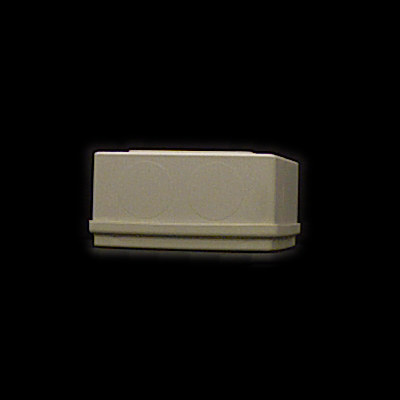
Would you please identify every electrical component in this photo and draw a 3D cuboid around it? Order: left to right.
[{"bbox_3d":[0.000,0.000,0.648,0.108,0.056,0.108,1,1,13],"label":"electrical component"}]
